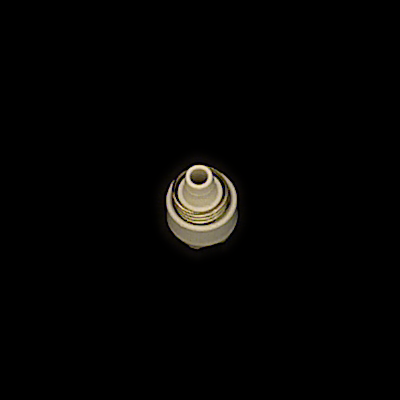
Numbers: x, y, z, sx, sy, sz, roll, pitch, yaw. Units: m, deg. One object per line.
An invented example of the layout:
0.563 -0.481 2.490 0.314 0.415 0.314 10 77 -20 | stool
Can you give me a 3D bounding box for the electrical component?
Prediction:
0.000 0.000 0.634 0.043 0.043 0.062 0 -26 2 | electrical component
